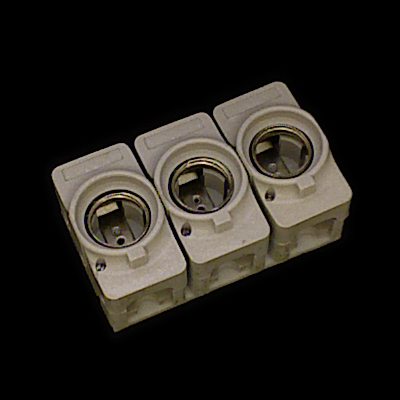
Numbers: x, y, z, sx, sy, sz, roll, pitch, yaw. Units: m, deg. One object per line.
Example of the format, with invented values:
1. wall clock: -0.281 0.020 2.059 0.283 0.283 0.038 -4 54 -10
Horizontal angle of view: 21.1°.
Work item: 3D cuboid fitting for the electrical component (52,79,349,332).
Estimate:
1. electrical component: 0.000 0.000 0.631 0.150 0.089 0.062 -23 -24 -11
